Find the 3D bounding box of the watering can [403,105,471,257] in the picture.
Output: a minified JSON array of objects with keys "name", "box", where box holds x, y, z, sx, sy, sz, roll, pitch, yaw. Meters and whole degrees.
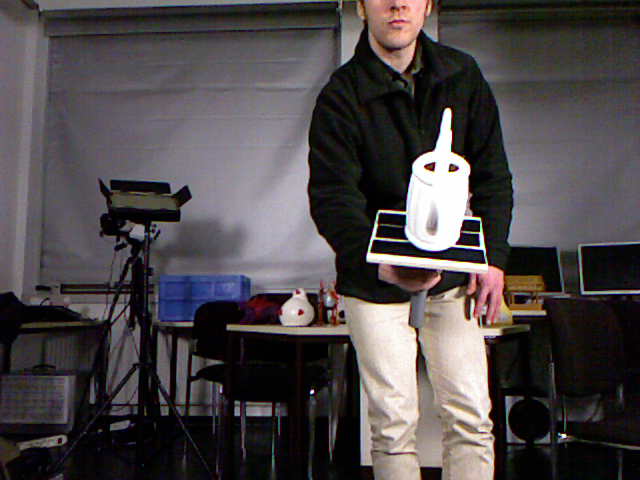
[{"name":"watering can","box":[0.223,-0.113,0.965,0.104,0.220,0.355,9,32,11]}]
